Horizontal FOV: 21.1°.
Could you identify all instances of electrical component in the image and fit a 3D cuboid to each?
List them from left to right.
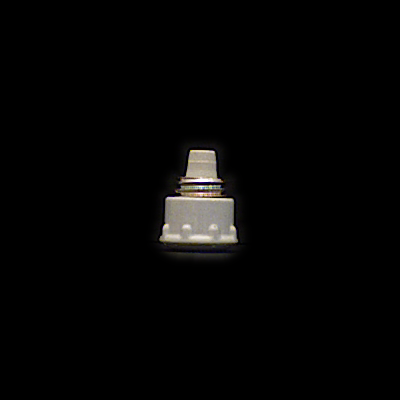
[{"bbox_3d":[0.000,0.000,0.657,0.048,0.062,0.048,2,2,0],"label":"electrical component"}]
